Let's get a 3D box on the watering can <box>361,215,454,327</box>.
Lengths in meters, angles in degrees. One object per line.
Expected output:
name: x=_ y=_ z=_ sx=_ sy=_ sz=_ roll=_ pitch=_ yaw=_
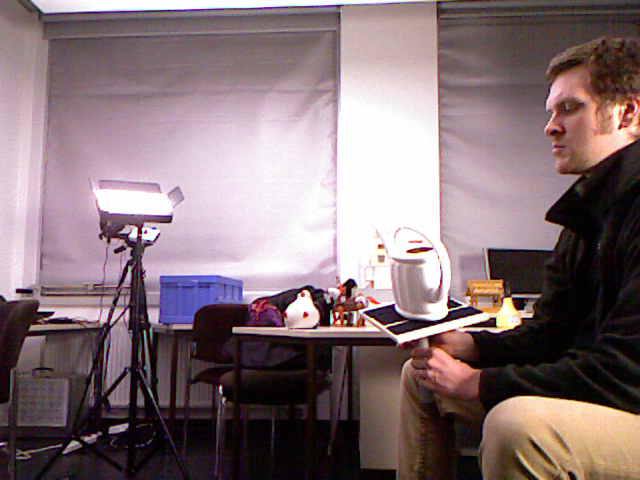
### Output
watering can: x=0.188 y=0.059 z=1.128 sx=0.104 sy=0.222 sz=0.350 roll=-12 pitch=15 yaw=-18
